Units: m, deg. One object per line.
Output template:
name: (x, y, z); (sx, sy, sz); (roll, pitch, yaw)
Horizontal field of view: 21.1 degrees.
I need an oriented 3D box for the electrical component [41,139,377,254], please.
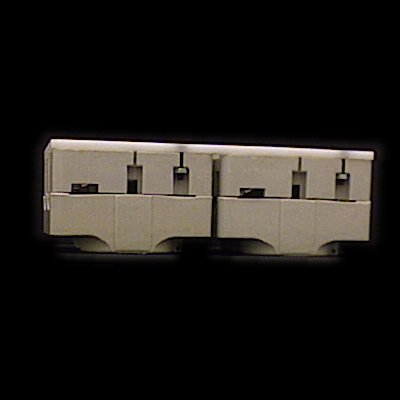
electrical component: (0.000, 0.000, 0.649); (0.186, 0.060, 0.105); (1, -1, -11)
